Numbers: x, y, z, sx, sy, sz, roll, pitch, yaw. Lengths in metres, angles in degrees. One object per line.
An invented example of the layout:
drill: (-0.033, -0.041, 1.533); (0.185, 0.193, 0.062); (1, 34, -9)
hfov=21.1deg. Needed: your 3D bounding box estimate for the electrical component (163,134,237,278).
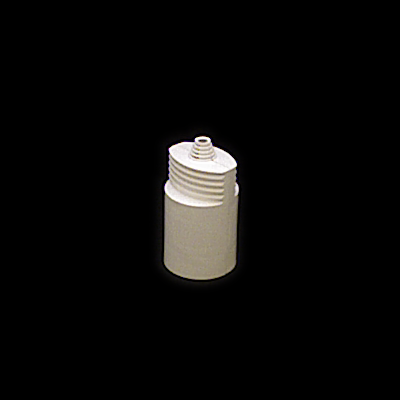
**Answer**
electrical component: (0.000, 0.000, 0.628); (0.043, 0.082, 0.042); (1, 31, 0)
